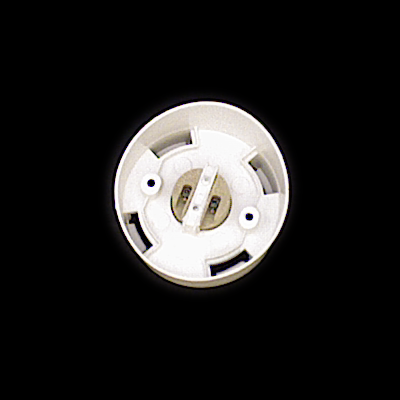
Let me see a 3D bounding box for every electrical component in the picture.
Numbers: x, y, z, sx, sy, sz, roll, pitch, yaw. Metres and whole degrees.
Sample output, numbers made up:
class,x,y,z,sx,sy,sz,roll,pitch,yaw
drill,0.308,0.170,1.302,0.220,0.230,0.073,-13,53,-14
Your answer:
class,x,y,z,sx,sy,sz,roll,pitch,yaw
electrical component,0.000,0.000,0.624,0.099,0.099,0.064,0,-18,0
